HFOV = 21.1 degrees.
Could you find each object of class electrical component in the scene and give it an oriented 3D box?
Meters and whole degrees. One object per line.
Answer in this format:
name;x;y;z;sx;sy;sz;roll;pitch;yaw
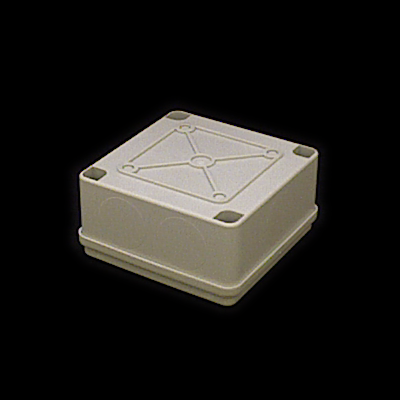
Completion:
electrical component;0.000;0.000;0.636;0.108;0.057;0.108;18;35;26
